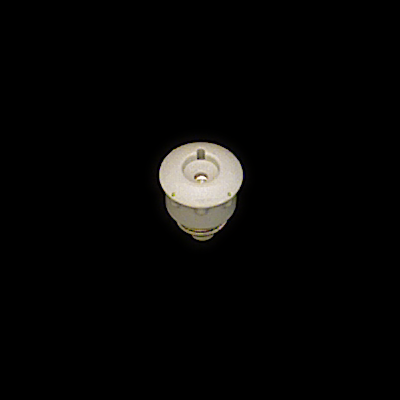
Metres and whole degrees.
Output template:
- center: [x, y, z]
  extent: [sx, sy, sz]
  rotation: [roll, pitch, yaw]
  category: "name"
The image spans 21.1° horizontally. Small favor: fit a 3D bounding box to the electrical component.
- center: [0.000, 0.000, 0.635]
  extent: [0.048, 0.048, 0.062]
  rotation: [0, -37, 0]
  category: "electrical component"
